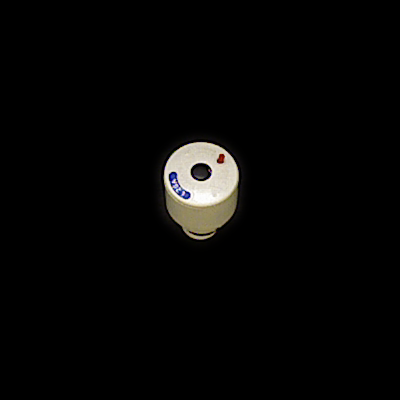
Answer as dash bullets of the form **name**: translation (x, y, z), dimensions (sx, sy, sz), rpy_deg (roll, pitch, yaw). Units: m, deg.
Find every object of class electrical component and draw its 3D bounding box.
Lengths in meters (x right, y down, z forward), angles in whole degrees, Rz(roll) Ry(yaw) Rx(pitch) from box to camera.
- **electrical component**: translation (0.000, 0.000, 0.618), dimensions (0.040, 0.040, 0.078), rpy_deg (0, -28, 0)
